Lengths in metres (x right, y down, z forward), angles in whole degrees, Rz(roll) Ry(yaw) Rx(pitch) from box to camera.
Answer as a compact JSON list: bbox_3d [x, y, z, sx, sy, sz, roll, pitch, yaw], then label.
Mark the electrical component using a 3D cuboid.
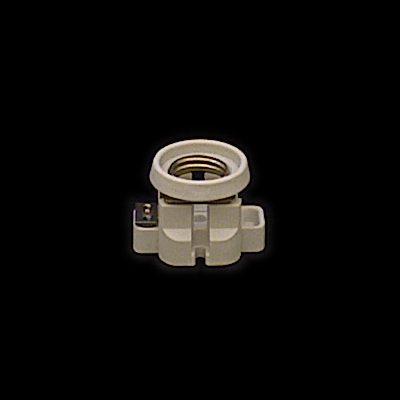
[{"bbox_3d":[0.000,0.000,0.634,0.078,0.057,0.057,-1,32,-3],"label":"electrical component"}]
